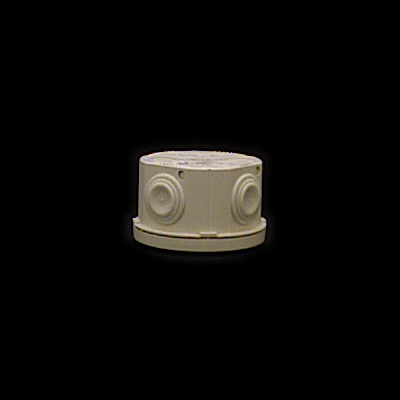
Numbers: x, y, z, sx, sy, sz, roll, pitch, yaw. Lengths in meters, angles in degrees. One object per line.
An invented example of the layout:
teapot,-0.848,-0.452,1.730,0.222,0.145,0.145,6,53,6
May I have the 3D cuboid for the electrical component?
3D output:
electrical component,0.000,0.000,0.644,0.080,0.051,0.079,1,11,0
